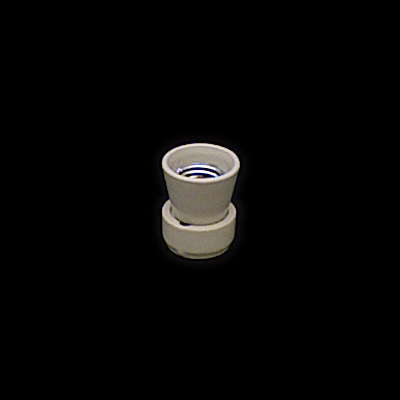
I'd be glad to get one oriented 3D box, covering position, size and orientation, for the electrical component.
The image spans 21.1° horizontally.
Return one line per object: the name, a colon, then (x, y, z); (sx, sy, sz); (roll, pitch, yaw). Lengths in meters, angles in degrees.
electrical component: (0.000, 0.000, 0.636); (0.045, 0.056, 0.044); (1, 32, -1)
